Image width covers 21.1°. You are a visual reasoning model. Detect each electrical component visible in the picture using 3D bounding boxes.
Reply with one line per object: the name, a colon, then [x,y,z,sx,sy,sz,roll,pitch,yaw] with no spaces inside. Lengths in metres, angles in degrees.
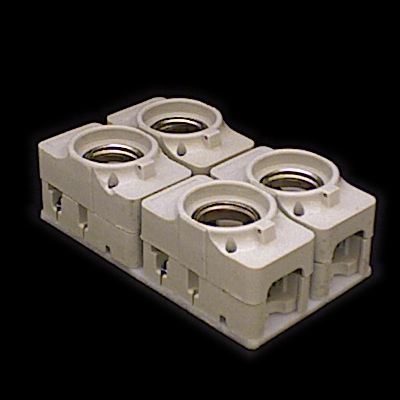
electrical component: [0.000,0.000,0.634,0.105,0.061,0.184,-26,41,-37]
